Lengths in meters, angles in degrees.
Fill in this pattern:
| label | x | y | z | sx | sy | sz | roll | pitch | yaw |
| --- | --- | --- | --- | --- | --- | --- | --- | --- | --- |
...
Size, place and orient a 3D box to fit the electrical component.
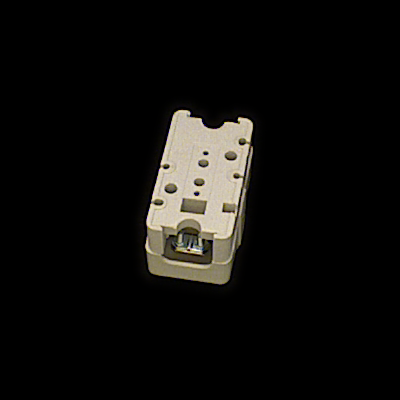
| label | x | y | z | sx | sy | sz | roll | pitch | yaw |
| --- | --- | --- | --- | --- | --- | --- | --- | --- | --- |
| electrical component | 0.000 | 0.000 | 0.637 | 0.050 | 0.089 | 0.056 | 8 | -36 | 5 |
